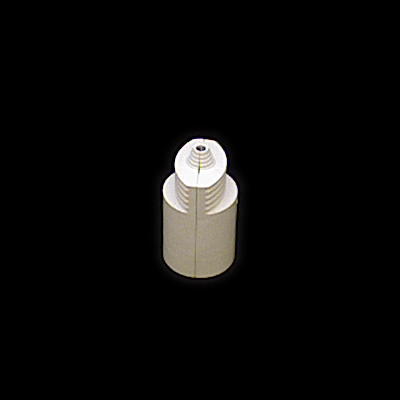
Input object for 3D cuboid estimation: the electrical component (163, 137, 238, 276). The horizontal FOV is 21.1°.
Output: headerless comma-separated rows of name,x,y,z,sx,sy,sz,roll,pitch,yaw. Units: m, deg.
electrical component,0.000,0.000,0.623,0.043,0.082,0.042,1,42,0
